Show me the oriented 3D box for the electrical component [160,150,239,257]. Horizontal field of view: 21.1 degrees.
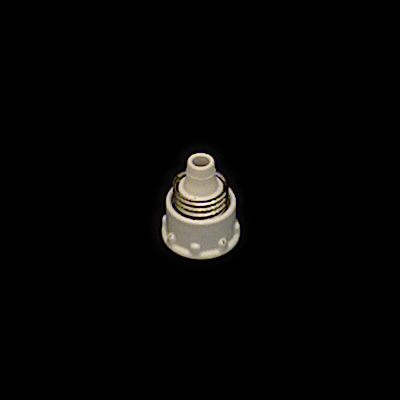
[{"bbox_3d":[0.000,0.000,0.638,0.048,0.062,0.047,1,41,0],"label":"electrical component"}]
